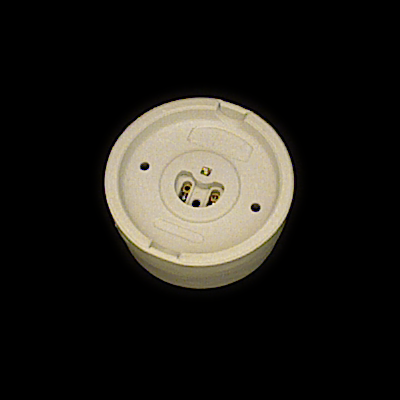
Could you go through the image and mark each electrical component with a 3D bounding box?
[{"bbox_3d":[0.000,0.000,0.636,0.108,0.107,0.060,0,-26,0],"label":"electrical component"}]
